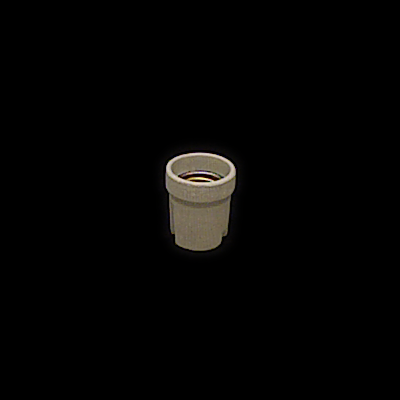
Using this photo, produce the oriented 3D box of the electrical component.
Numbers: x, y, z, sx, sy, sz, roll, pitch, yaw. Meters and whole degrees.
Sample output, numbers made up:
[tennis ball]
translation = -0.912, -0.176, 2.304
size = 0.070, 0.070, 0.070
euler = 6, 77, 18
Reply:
[electrical component]
translation = 0.000, 0.000, 0.636
size = 0.040, 0.047, 0.039
euler = 1, 32, 0
